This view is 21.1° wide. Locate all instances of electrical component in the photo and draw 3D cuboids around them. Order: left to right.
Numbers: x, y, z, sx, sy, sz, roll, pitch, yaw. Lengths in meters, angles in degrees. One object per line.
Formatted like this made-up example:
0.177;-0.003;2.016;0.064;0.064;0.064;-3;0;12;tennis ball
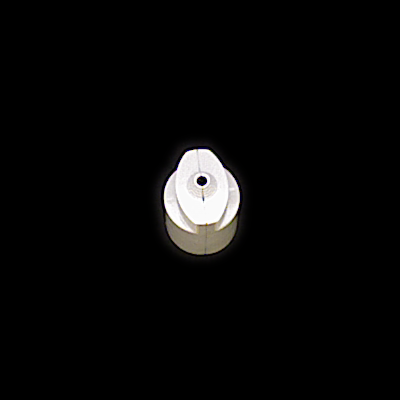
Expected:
0.000;0.000;0.616;0.043;0.043;0.080;0;-17;0;electrical component
